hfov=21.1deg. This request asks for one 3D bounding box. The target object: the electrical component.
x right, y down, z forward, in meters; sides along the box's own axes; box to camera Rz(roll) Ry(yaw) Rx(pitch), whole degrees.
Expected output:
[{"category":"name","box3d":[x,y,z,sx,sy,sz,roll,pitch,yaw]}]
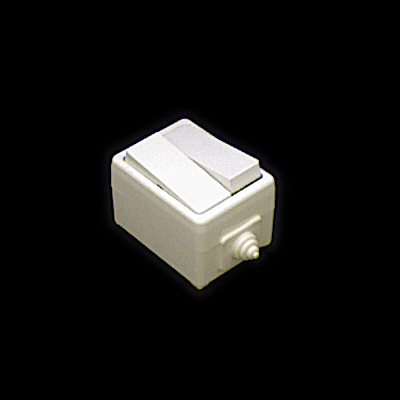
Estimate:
[{"category":"electrical component","box3d":[0.000,0.000,0.629,0.061,0.061,0.096,-31,50,-30]}]
